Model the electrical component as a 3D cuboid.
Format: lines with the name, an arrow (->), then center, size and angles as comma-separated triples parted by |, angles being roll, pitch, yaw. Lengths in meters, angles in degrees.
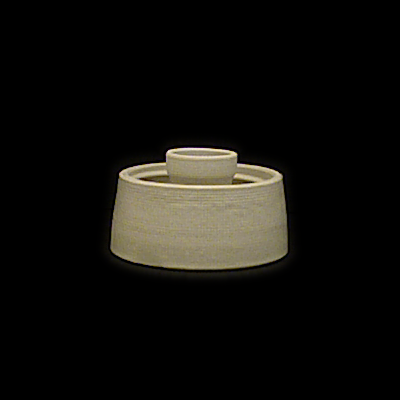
electrical component -> 0.000, 0.000, 0.649 | 0.108, 0.061, 0.107 | 2, 11, 0
